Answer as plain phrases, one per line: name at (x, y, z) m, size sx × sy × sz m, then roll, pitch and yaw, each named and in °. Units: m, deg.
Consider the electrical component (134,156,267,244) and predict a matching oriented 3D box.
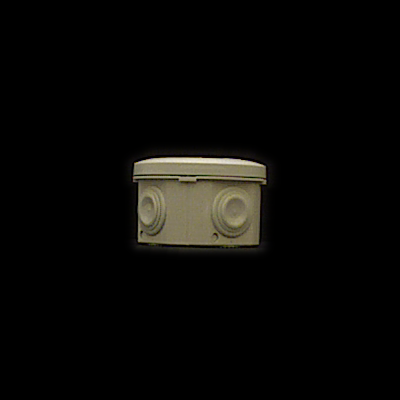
electrical component at (0.000, 0.000, 0.647) m, size 0.080 × 0.051 × 0.080 m, roll 1°, pitch 0°, yaw 0°
